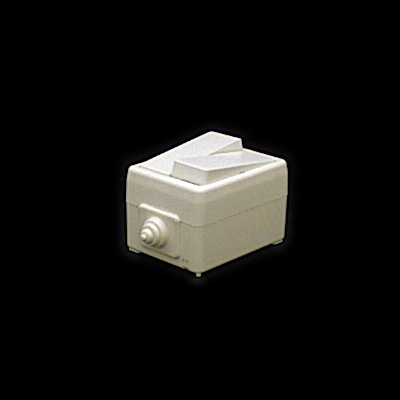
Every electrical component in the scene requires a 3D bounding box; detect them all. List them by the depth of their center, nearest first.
[{"bbox_3d":[0.000,0.000,0.637,0.061,0.061,0.096,19,27,39],"label":"electrical component"}]
